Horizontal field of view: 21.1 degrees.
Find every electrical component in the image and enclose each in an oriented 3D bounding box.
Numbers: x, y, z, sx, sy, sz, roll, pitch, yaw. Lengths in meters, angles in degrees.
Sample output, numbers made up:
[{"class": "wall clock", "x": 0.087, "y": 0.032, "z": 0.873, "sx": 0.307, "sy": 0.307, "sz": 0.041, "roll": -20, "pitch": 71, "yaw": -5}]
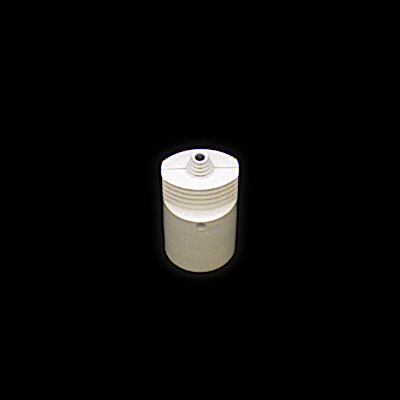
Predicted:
[{"class": "electrical component", "x": 0.000, "y": 0.000, "z": 0.619, "sx": 0.043, "sy": 0.043, "sz": 0.081, "roll": 0, "pitch": -38, "yaw": 0}]
